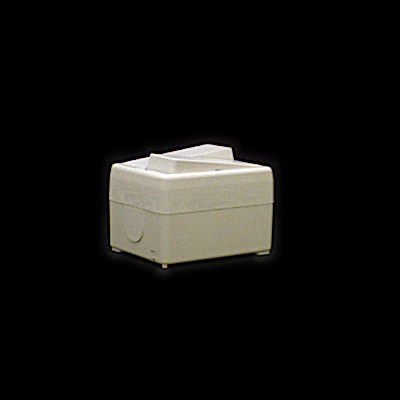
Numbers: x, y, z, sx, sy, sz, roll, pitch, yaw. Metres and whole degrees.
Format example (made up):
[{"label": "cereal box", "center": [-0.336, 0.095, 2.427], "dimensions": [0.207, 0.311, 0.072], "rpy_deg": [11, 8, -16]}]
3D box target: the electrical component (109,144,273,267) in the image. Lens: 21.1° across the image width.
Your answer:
[{"label": "electrical component", "center": [0.000, 0.000, 0.646], "dimensions": [0.096, 0.061, 0.061], "rpy_deg": [-6, 13, -35]}]
